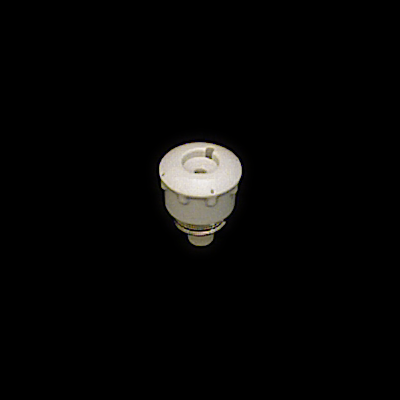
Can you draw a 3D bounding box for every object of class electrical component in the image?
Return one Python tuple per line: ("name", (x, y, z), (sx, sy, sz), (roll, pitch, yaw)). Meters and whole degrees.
("electrical component", (0.000, 0.000, 0.638), (0.048, 0.062, 0.047), (1, 43, 0))
